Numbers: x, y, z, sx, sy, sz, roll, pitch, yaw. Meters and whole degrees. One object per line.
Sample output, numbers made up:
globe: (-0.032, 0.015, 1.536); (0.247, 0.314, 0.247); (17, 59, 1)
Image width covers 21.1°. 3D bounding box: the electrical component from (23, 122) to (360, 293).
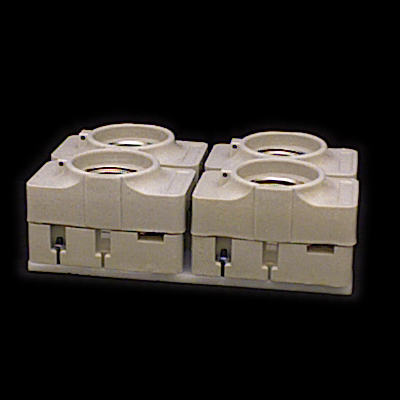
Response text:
electrical component: (0.000, 0.000, 0.637); (0.186, 0.061, 0.104); (3, 21, 7)
